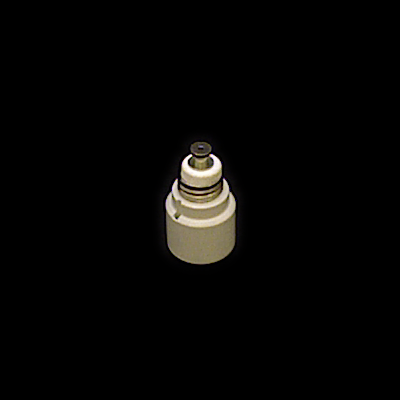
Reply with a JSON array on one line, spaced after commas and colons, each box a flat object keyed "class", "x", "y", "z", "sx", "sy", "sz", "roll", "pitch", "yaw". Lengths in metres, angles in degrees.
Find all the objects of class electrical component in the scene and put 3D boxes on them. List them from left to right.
[{"class": "electrical component", "x": 0.000, "y": 0.000, "z": 0.625, "sx": 0.040, "sy": 0.079, "sz": 0.039, "roll": 0, "pitch": 43, "yaw": 0}]
